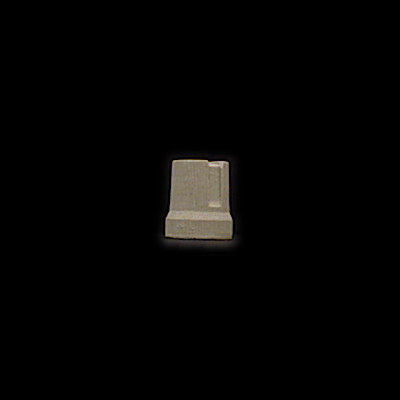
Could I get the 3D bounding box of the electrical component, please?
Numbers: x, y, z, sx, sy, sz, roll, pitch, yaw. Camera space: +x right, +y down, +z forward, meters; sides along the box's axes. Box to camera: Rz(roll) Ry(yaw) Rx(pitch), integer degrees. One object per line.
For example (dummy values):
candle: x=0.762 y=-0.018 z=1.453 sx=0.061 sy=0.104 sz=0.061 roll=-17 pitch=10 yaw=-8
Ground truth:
electrical component: x=0.000 y=0.000 z=0.651 sx=0.040 sy=0.046 sz=0.040 roll=2 pitch=1 yaw=0
